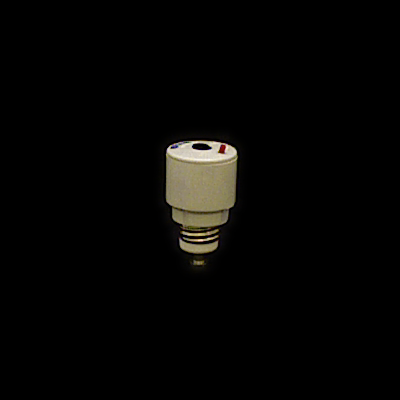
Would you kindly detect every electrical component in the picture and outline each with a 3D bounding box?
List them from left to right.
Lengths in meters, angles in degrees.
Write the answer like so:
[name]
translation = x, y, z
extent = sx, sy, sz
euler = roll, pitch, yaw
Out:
[electrical component]
translation = 0.000, 0.000, 0.633
extent = 0.040, 0.079, 0.039
euler = 1, 21, 0
